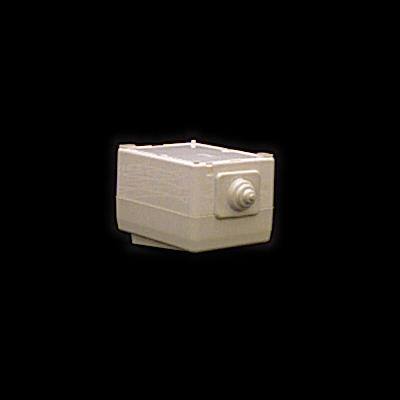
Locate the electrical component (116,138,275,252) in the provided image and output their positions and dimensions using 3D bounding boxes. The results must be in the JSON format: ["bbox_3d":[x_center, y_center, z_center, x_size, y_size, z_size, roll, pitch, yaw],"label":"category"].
[{"bbox_3d":[0.000,0.000,0.642,0.062,0.061,0.095,-7,14,-38],"label":"electrical component"}]
